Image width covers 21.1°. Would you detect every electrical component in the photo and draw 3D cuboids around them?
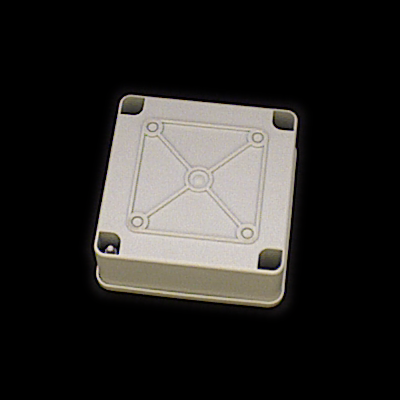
[{"bbox_3d":[0.000,0.000,0.627,0.109,0.109,0.056,6,-27,3],"label":"electrical component"}]
